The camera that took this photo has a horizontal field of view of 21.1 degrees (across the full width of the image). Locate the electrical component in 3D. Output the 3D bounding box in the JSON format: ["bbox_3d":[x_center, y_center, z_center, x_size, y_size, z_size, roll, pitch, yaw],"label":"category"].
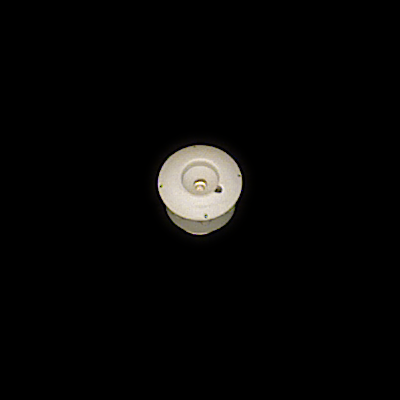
[{"bbox_3d":[0.000,0.000,0.635,0.048,0.048,0.062,0,-27,0],"label":"electrical component"}]
